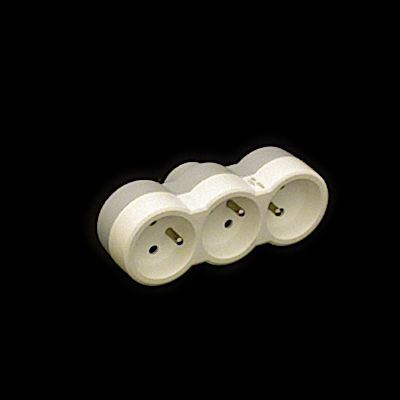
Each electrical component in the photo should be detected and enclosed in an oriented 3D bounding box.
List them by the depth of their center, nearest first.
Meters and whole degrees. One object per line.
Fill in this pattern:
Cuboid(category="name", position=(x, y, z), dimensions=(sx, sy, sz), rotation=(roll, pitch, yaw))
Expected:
Cuboid(category="electrical component", position=(0.000, 0.000, 0.646), dimensions=(0.139, 0.053, 0.072), rotation=(-16, 34, -25))
